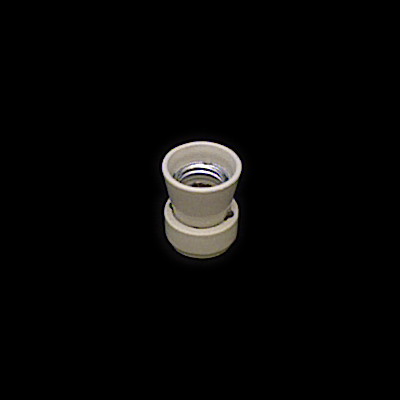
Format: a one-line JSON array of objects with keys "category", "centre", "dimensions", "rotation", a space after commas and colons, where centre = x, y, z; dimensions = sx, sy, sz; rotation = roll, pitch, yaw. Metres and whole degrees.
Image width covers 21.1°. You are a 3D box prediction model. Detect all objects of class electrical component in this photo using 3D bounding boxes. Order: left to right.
[{"category": "electrical component", "centre": [0.000, 0.000, 0.633], "dimensions": [0.045, 0.056, 0.044], "rotation": [1, 41, -1]}]
